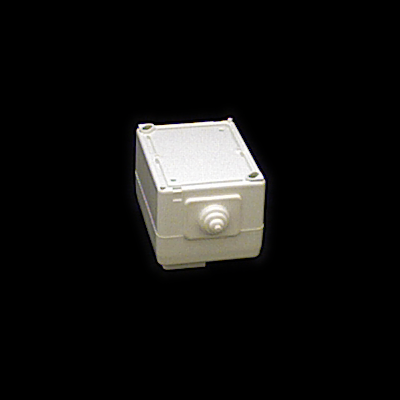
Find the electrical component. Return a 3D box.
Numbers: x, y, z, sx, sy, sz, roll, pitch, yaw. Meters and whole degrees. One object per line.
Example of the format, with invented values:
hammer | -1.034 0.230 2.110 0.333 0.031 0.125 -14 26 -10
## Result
electrical component | 0.000 0.000 0.628 0.062 0.061 0.095 -5 31 -11
